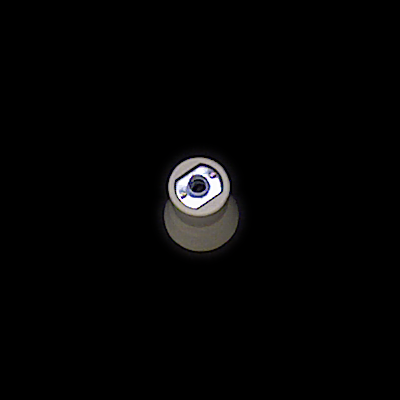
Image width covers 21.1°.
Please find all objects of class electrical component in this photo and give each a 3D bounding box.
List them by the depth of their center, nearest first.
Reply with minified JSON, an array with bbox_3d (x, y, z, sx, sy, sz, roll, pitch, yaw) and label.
[{"bbox_3d":[0.000,0.000,0.625,0.044,0.044,0.065,0,-17,1],"label":"electrical component"}]
